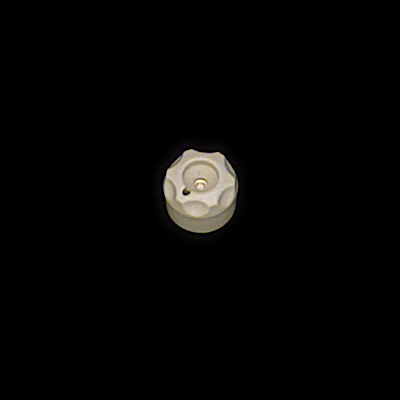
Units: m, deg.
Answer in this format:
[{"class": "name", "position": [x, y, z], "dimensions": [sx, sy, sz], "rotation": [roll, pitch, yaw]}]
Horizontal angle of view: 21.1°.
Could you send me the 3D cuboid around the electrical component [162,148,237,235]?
[{"class": "electrical component", "position": [0.000, 0.000, 0.634], "dimensions": [0.043, 0.043, 0.062], "rotation": [0, -27, 0]}]
